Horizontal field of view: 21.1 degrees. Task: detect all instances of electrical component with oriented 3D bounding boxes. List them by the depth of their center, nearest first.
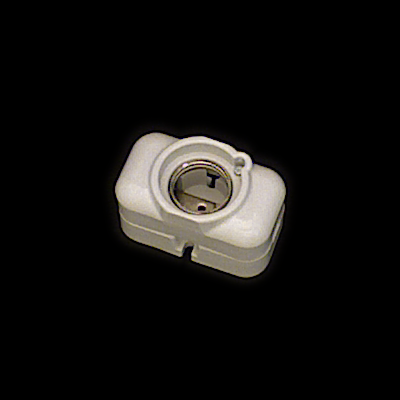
[{"bbox_3d":[0.000,0.000,0.635,0.095,0.054,0.059,18,-25,9],"label":"electrical component"}]
